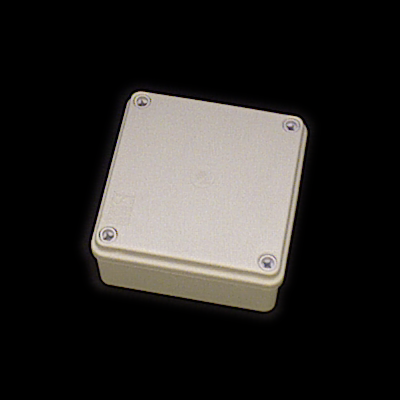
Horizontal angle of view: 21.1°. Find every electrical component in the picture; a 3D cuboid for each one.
[{"bbox_3d":[0.000,0.000,0.630,0.109,0.109,0.056,10,-27,4],"label":"electrical component"}]
